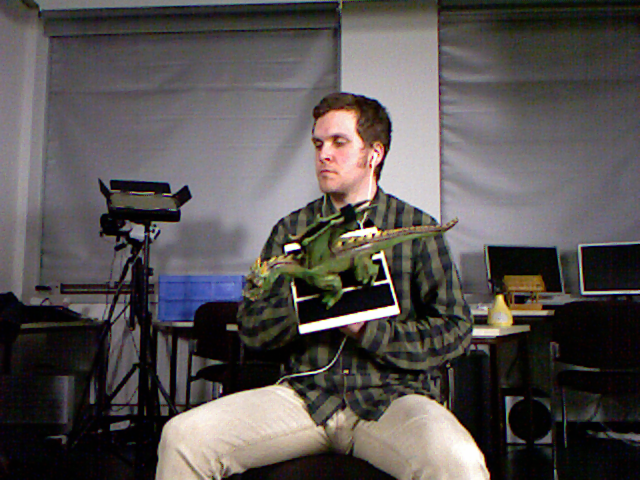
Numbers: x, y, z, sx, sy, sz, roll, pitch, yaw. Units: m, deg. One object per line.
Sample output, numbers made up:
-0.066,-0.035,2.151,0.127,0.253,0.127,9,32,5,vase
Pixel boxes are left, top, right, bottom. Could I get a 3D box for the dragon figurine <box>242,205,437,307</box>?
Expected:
0.044,0.014,0.956,0.413,0.124,0.239,-27,-23,-7,dragon figurine
